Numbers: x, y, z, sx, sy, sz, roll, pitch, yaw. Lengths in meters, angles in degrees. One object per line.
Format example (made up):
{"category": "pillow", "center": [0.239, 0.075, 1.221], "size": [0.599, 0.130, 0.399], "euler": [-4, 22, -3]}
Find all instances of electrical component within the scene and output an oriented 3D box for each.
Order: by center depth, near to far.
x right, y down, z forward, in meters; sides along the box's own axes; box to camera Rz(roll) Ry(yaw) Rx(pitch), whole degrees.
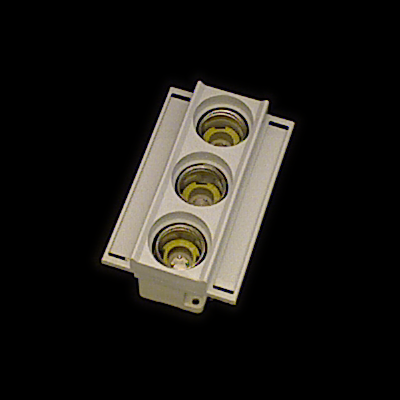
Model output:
{"category": "electrical component", "center": [0.000, 0.000, 0.638], "size": [0.078, 0.121, 0.063], "euler": [17, -25, 7]}
